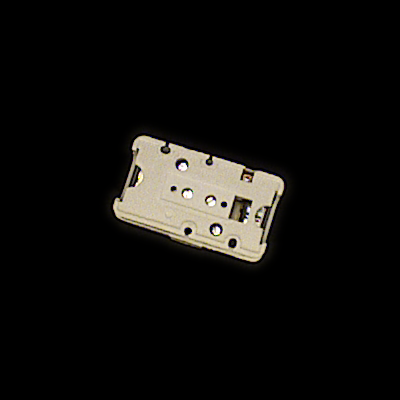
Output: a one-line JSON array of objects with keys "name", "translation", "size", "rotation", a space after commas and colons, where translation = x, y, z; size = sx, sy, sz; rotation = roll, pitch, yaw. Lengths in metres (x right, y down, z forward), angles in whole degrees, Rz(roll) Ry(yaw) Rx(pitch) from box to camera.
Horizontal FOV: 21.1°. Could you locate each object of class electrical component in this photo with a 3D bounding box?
[{"name": "electrical component", "translation": [0.000, 0.000, 0.637], "size": [0.089, 0.050, 0.055], "rotation": [17, -6, 1]}]
